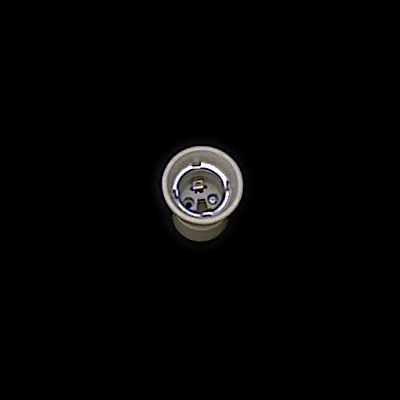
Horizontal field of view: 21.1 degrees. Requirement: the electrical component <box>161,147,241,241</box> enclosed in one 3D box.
[{"bbox_3d":[0.000,0.000,0.624,0.044,0.044,0.065,0,-17,-1],"label":"electrical component"}]
